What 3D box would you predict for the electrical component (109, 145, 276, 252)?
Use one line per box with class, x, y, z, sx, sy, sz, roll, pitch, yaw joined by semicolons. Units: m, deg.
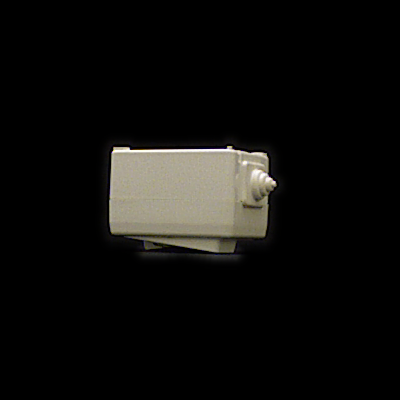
electrical component;0.000;0.000;0.649;0.096;0.061;0.061;1;0;25
